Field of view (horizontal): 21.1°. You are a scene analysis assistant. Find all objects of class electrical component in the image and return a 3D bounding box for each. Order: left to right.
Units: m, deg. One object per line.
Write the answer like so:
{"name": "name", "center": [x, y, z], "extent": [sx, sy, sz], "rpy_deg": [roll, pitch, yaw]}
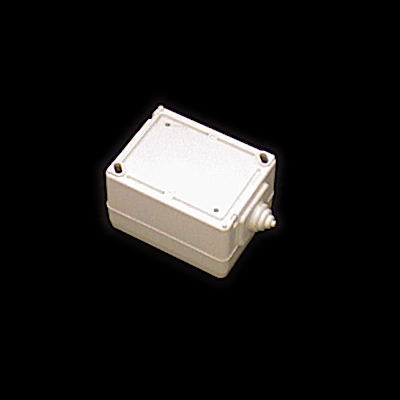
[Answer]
{"name": "electrical component", "center": [0.000, 0.000, 0.627], "extent": [0.096, 0.062, 0.061], "rpy_deg": [25, -34, 17]}
